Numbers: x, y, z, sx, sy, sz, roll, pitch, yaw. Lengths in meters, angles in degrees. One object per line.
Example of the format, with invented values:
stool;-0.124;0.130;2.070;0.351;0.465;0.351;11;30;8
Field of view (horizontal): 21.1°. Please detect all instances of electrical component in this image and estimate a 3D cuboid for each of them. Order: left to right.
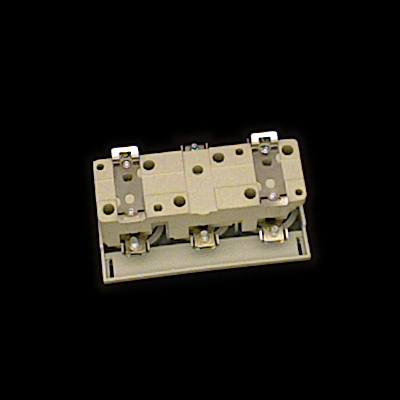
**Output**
electrical component;0.000;0.000;0.632;0.121;0.079;0.063;-7;-26;-3
